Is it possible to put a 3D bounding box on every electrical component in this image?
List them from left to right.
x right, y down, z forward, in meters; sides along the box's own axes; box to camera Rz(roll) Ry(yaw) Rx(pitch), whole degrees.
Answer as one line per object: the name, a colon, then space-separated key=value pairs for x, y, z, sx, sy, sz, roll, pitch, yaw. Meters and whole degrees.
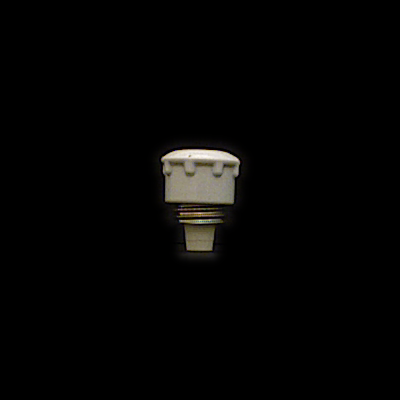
electrical component: x=0.000 y=0.000 z=0.655 sx=0.048 sy=0.062 sz=0.048 roll=2 pitch=1 yaw=1
